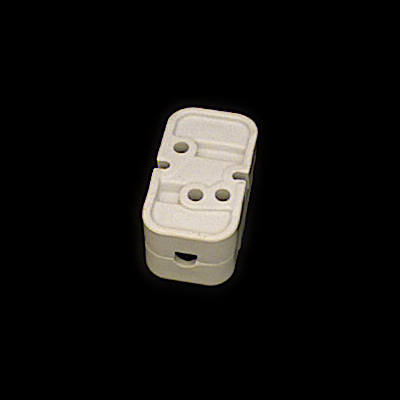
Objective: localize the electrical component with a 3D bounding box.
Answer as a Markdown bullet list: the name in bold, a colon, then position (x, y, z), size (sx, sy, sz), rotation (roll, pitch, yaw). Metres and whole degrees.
- **electrical component**: position (0.000, 0.000, 0.636), size (0.053, 0.095, 0.059), rotation (9, -37, 6)
